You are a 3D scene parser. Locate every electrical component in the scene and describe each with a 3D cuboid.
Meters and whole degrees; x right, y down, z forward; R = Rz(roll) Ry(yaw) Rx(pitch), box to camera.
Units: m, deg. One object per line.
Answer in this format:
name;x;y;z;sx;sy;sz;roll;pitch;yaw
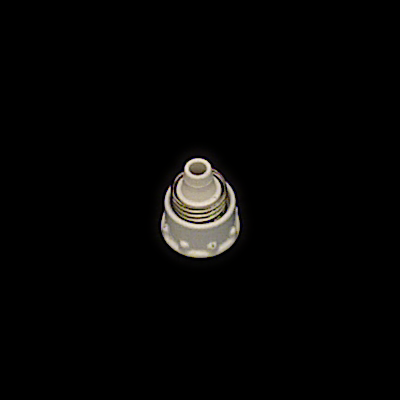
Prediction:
electrical component;0.000;0.000;0.634;0.048;0.048;0.062;0;-38;1
